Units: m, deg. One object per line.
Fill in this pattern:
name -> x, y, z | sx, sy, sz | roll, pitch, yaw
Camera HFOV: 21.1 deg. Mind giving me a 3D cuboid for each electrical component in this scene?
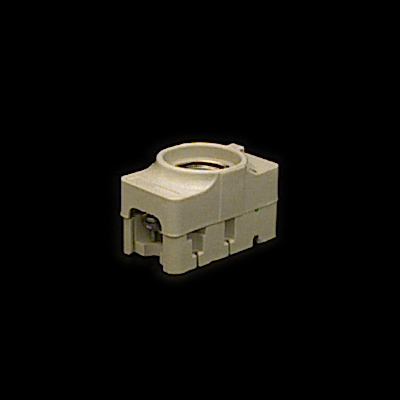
electrical component -> 0.000, 0.000, 0.646 | 0.049, 0.056, 0.090 | 21, 29, 41
